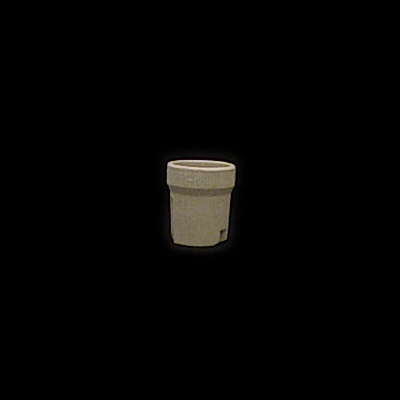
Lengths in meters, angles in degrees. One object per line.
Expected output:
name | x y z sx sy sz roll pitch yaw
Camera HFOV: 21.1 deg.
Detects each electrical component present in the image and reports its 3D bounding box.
electrical component | 0.000 0.000 0.644 0.040 0.046 0.040 1 11 0
